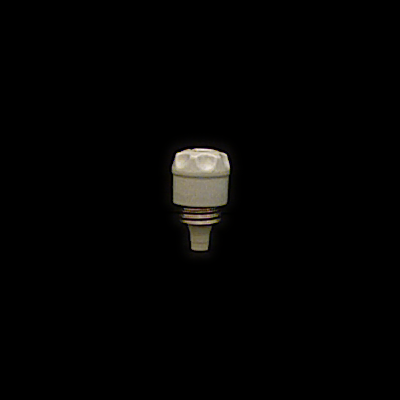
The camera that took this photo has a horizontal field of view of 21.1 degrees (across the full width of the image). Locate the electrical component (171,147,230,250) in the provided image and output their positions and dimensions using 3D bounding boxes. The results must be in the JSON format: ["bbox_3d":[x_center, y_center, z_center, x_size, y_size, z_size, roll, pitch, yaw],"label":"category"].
[{"bbox_3d":[0.000,0.000,0.654,0.035,0.062,0.035,1,12,0],"label":"electrical component"}]
